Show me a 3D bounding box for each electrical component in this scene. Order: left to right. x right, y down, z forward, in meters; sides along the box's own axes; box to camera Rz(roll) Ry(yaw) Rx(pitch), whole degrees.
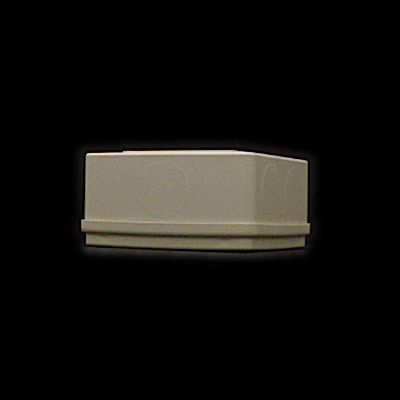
[{"bbox_3d":[0.000,0.000,0.647,0.108,0.056,0.109,1,0,23],"label":"electrical component"}]
